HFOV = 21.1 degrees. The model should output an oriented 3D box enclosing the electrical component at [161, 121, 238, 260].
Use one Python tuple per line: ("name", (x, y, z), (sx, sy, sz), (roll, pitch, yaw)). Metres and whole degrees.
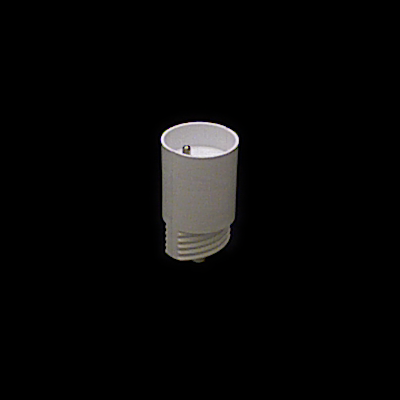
("electrical component", (0.000, 0.000, 0.625), (0.043, 0.082, 0.042), (0, 31, 0))
